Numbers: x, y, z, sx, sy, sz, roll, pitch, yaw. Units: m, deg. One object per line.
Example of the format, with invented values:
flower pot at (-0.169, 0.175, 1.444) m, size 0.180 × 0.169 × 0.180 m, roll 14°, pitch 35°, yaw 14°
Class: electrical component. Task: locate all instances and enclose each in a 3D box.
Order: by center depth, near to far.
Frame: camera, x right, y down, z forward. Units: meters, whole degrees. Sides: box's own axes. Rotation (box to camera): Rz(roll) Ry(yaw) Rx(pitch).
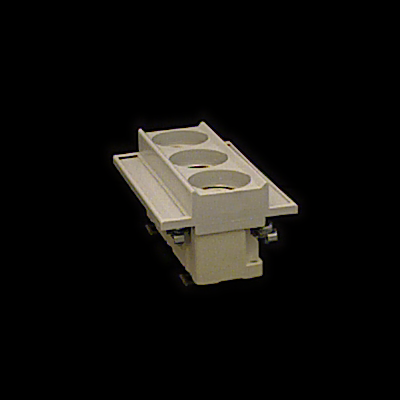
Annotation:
electrical component at (0.000, 0.000, 0.650) m, size 0.079 × 0.064 × 0.119 m, roll -7°, pitch 23°, yaw -15°
